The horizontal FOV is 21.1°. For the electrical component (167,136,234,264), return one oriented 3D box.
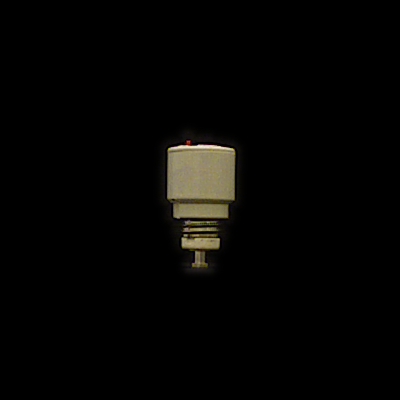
[{"bbox_3d":[0.000,0.000,0.652,0.040,0.078,0.040,1,1,0],"label":"electrical component"}]
